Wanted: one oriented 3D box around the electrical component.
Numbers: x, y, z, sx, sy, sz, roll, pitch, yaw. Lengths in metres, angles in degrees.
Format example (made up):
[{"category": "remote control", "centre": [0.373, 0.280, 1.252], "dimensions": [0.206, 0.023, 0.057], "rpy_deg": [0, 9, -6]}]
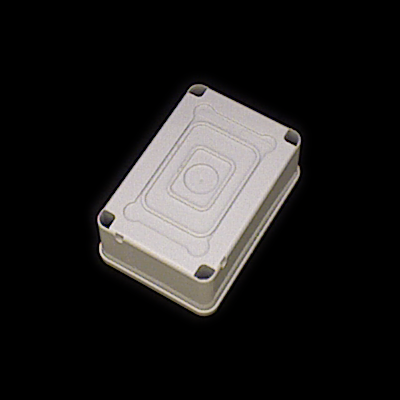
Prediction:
[{"category": "electrical component", "centre": [0.000, 0.000, 0.628], "dimensions": [0.078, 0.113, 0.057], "rpy_deg": [28, -24, 14]}]
